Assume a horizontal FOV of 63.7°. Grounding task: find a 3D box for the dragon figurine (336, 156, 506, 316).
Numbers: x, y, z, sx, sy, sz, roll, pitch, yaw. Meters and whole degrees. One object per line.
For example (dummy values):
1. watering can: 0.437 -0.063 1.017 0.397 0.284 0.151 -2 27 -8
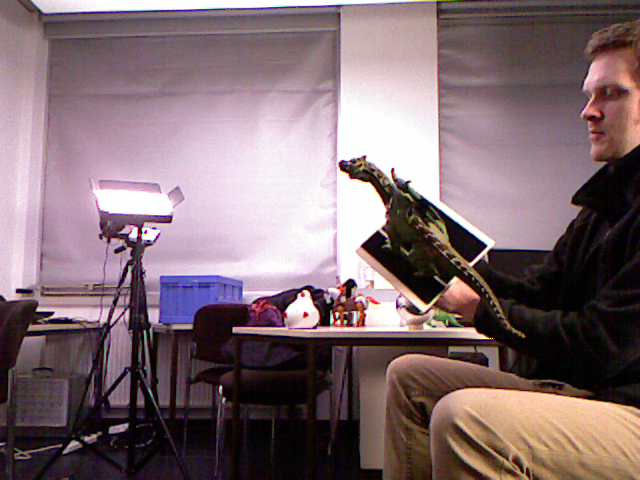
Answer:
1. dragon figurine: 0.192 -0.024 0.962 0.416 0.123 0.240 40 -5 24
